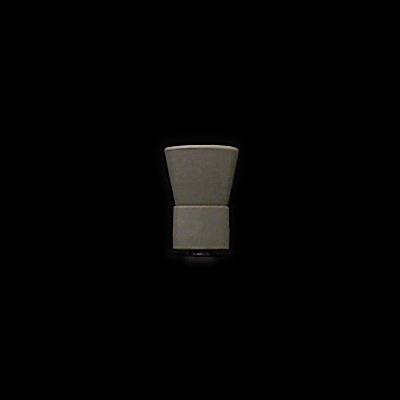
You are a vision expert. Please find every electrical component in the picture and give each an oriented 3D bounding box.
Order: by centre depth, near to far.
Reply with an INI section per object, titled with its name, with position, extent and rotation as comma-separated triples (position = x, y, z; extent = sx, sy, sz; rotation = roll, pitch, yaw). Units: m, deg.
[electrical component]
position = 0.000, 0.000, 0.651
extent = 0.044, 0.065, 0.044
rotation = 0, 1, 0
